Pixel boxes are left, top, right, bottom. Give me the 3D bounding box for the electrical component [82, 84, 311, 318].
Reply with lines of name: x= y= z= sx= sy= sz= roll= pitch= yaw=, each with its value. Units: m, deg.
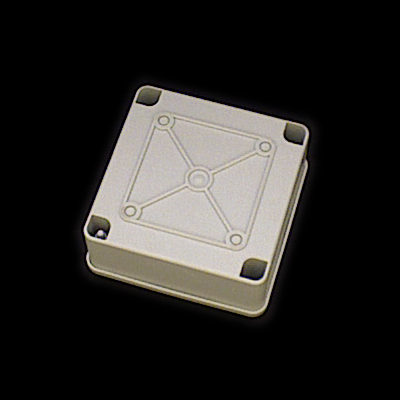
electrical component: x=0.000 y=0.000 z=0.627 sx=0.108 sy=0.109 sz=0.056 roll=15 pitch=-26 yaw=8
